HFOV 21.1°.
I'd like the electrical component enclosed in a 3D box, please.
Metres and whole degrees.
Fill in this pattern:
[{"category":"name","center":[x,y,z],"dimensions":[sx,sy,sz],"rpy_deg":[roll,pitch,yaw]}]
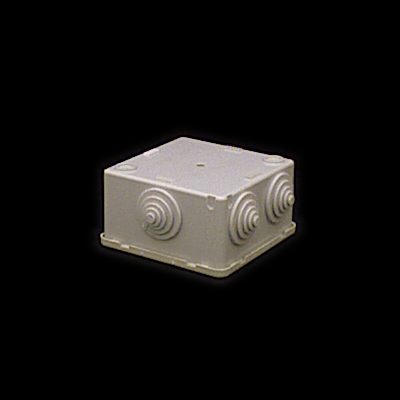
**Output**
[{"category":"electrical component","center":[0.000,0.000,0.640],"dimensions":[0.099,0.049,0.099],"rpy_deg":[14,24,30]}]
